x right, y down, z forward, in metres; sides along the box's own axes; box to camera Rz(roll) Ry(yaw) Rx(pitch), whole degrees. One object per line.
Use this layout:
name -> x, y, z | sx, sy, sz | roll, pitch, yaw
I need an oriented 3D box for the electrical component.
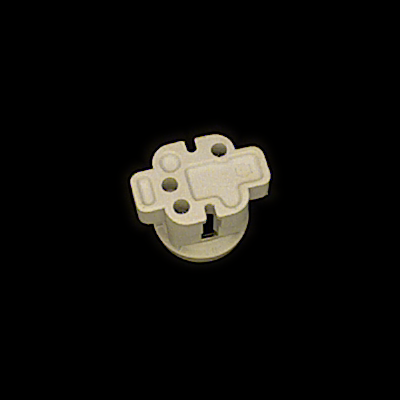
electrical component -> 0.000, 0.000, 0.636 | 0.079, 0.057, 0.057 | -14, -27, -8
